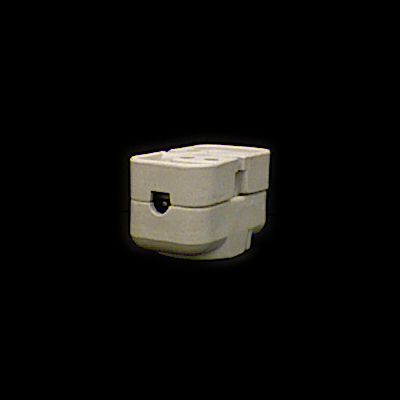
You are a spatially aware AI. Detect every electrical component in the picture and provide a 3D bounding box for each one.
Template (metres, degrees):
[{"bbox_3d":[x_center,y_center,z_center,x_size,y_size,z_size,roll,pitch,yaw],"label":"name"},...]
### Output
[{"bbox_3d":[0.000,0.000,0.652,0.053,0.060,0.095,8,12,29],"label":"electrical component"}]
